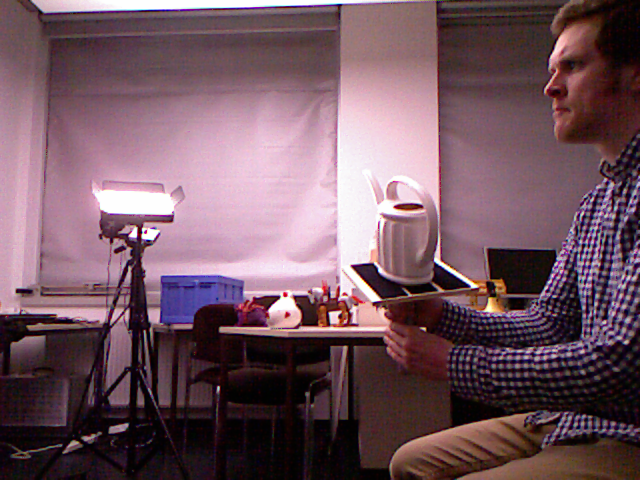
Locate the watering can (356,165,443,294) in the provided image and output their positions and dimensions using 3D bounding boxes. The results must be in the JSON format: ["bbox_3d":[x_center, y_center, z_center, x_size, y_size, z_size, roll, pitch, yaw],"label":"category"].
[{"bbox_3d":[0.149,-0.028,1.024,0.104,0.221,0.353,-7,20,-15],"label":"watering can"}]
